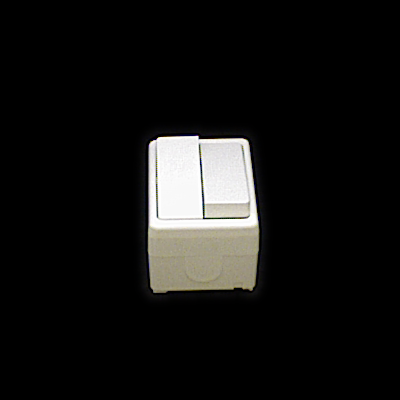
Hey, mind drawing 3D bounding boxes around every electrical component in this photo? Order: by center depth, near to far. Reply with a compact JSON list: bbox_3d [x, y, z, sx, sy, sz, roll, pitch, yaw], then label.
[{"bbox_3d":[0.000,0.000,0.633,0.062,0.061,0.095,-1,42,-2],"label":"electrical component"}]
